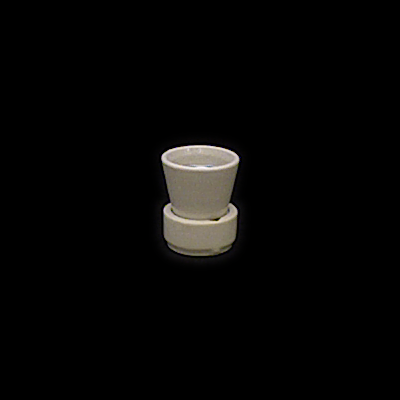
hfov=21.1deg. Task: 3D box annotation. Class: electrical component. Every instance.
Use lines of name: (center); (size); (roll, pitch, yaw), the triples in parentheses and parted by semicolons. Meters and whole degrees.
electrical component: (0.000, 0.000, 0.637); (0.045, 0.056, 0.044); (0, 21, 0)
